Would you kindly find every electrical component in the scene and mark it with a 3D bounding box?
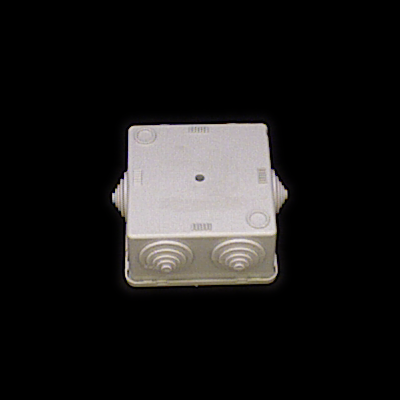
[{"bbox_3d":[0.000,0.000,0.632,0.100,0.099,0.049,-1,-37,-2],"label":"electrical component"}]
